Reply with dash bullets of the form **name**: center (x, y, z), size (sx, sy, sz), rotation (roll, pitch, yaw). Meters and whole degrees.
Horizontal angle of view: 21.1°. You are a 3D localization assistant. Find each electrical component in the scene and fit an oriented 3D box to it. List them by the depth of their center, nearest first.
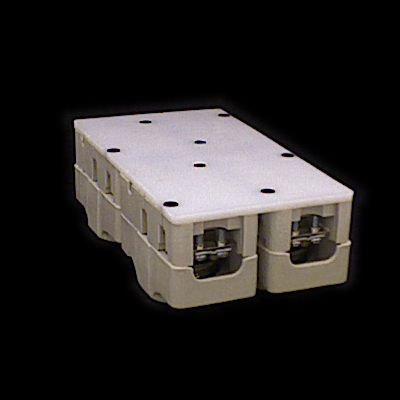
- **electrical component**: center (0.000, 0.000, 0.638), size (0.105, 0.061, 0.184), rotation (-7, 22, -21)
